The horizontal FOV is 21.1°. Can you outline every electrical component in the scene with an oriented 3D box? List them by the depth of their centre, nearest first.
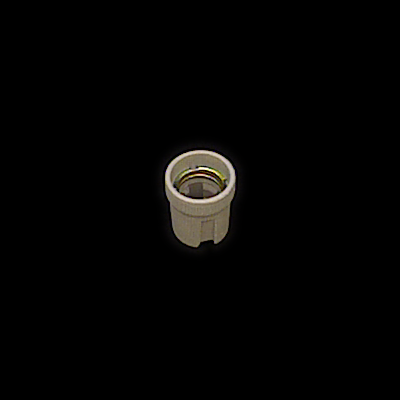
[{"bbox_3d":[0.000,0.000,0.632,0.040,0.039,0.047,0,-38,-1],"label":"electrical component"}]
